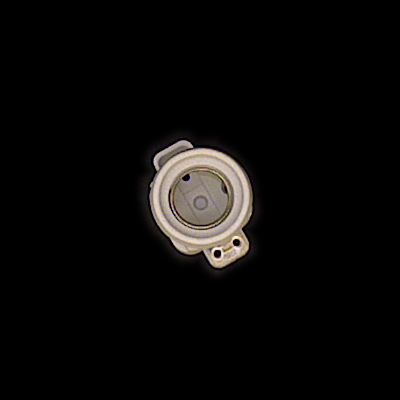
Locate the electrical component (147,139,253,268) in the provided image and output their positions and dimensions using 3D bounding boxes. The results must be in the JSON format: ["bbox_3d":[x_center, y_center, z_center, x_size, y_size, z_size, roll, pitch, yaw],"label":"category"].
[{"bbox_3d":[0.000,0.000,0.629,0.058,0.078,0.056,-30,-6,-3],"label":"electrical component"}]
